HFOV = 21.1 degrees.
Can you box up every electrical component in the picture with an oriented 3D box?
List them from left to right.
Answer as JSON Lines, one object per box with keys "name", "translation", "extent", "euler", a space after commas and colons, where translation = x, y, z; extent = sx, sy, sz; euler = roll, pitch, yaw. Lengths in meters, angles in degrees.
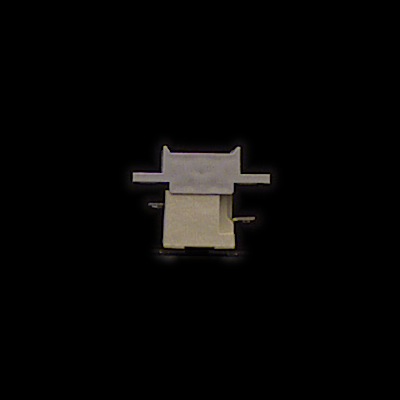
{"name": "electrical component", "translation": [0.000, 0.000, 0.650], "extent": [0.081, 0.064, 0.042], "euler": [1, 0, -3]}
